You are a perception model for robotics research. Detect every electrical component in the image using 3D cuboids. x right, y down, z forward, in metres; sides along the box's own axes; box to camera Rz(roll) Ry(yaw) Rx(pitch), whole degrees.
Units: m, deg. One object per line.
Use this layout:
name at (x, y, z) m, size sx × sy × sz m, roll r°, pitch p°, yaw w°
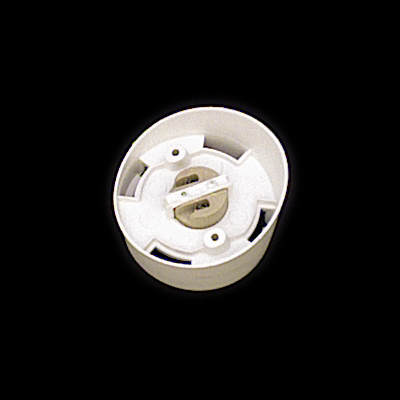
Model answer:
electrical component at (0.000, 0.000, 0.625) m, size 0.099 × 0.099 × 0.064 m, roll 0°, pitch -28°, yaw -1°
